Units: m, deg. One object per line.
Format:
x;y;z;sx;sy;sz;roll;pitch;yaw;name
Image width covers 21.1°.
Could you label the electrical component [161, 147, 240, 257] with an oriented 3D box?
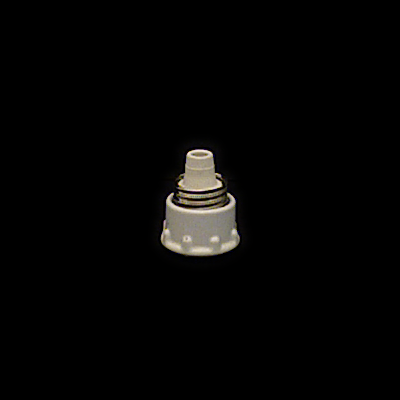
0.000;0.000;0.644;0.048;0.063;0.047;0;22;1;electrical component
